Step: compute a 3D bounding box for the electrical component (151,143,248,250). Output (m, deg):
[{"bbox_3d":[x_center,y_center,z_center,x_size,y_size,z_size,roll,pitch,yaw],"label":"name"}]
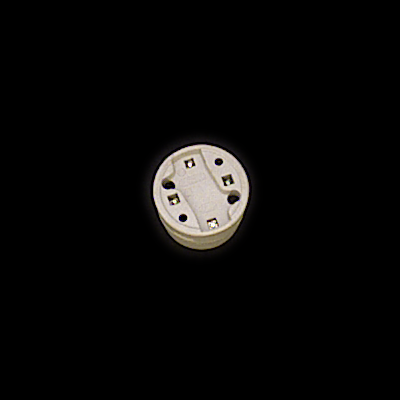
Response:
[{"bbox_3d":[0.000,0.000,0.635,0.055,0.056,0.047,0,-17,0],"label":"electrical component"}]
